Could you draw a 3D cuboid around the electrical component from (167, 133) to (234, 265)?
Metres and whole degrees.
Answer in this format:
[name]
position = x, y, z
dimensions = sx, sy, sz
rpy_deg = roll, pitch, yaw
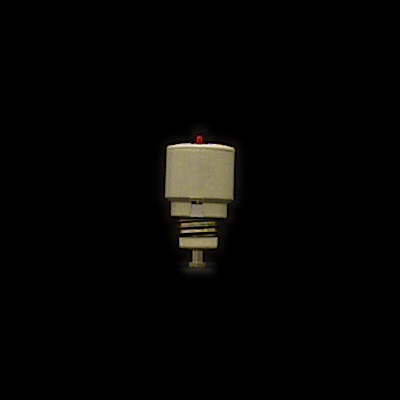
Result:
[electrical component]
position = 0.000, 0.000, 0.647
dimensions = 0.040, 0.078, 0.040
rpy_deg = 1, 2, 0
